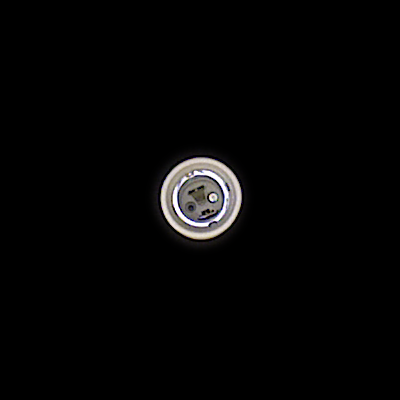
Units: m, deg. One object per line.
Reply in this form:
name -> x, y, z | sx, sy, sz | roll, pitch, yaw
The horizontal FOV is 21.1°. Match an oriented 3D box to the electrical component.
electrical component -> 0.000, 0.000, 0.629 | 0.045, 0.045, 0.055 | 0, -5, 1
